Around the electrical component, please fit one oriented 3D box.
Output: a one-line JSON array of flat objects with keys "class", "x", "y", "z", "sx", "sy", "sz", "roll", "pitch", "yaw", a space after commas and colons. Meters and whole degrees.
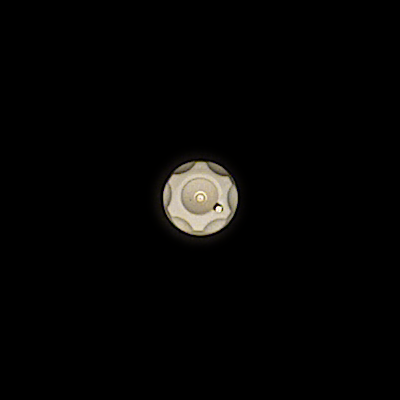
[{"class": "electrical component", "x": 0.000, "y": 0.000, "z": 0.635, "sx": 0.043, "sy": 0.043, "sz": 0.062, "roll": 0, "pitch": -5, "yaw": 2}]
